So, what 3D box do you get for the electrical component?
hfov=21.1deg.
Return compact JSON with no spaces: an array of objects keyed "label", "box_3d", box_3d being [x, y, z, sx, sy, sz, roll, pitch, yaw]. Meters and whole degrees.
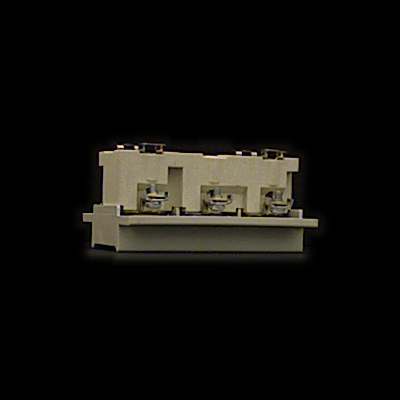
[{"label":"electrical component","box_3d":[0.000,0.000,0.654,0.122,0.063,0.078,1,1,-26]}]
